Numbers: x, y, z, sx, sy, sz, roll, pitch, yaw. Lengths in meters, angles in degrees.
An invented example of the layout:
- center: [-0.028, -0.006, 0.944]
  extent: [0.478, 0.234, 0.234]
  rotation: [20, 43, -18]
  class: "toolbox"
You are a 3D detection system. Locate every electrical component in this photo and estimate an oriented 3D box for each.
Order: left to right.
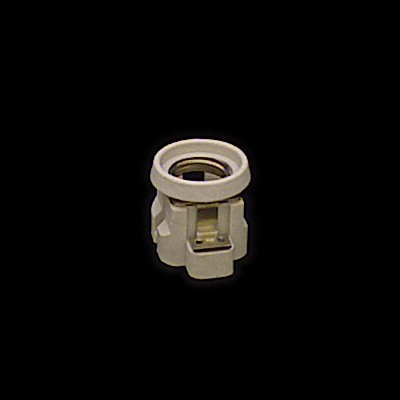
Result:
- center: [0.000, 0.000, 0.634]
  extent: [0.058, 0.057, 0.077]
  rotation: [-6, 32, -11]
  class: "electrical component"
